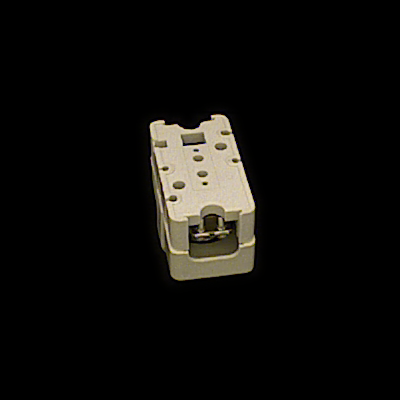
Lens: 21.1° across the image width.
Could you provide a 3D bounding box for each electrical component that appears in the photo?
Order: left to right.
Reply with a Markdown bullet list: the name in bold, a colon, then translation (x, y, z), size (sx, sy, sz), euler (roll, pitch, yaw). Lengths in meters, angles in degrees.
- **electrical component**: translation (0.000, 0.000, 0.639), size (0.050, 0.056, 0.088), euler (-7, 43, -7)
